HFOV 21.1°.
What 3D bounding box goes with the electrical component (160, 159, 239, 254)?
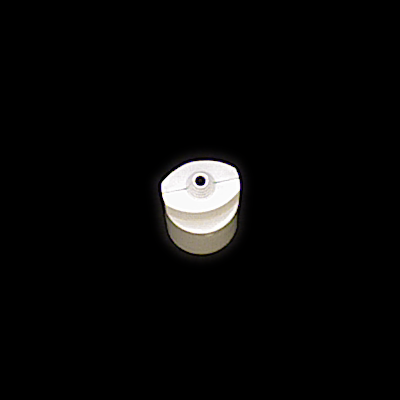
[{"bbox_3d":[0.000,0.000,0.616,0.043,0.043,0.080,0,-17,1],"label":"electrical component"}]
